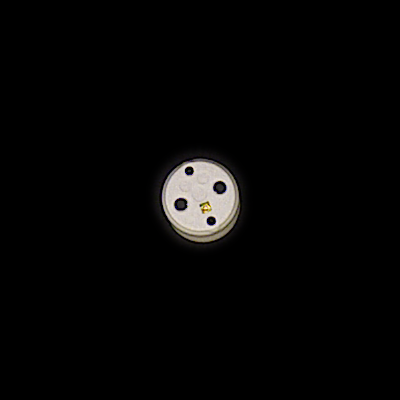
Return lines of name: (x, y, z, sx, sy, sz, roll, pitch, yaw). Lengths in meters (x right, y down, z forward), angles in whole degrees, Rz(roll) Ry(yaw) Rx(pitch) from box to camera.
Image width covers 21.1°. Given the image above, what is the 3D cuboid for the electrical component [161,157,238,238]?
electrical component: (0.000, 0.000, 0.629, 0.045, 0.045, 0.055, 0, -7, 1)
